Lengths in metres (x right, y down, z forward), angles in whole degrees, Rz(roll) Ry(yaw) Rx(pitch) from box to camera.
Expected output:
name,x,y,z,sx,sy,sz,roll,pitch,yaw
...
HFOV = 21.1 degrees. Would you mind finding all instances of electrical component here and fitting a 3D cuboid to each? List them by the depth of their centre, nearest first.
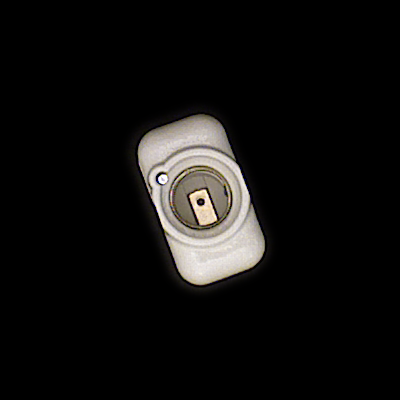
name,x,y,z,sx,sy,sz,roll,pitch,yaw
electrical component,0.000,0.000,0.635,0.054,0.095,0.059,-20,-6,-1
